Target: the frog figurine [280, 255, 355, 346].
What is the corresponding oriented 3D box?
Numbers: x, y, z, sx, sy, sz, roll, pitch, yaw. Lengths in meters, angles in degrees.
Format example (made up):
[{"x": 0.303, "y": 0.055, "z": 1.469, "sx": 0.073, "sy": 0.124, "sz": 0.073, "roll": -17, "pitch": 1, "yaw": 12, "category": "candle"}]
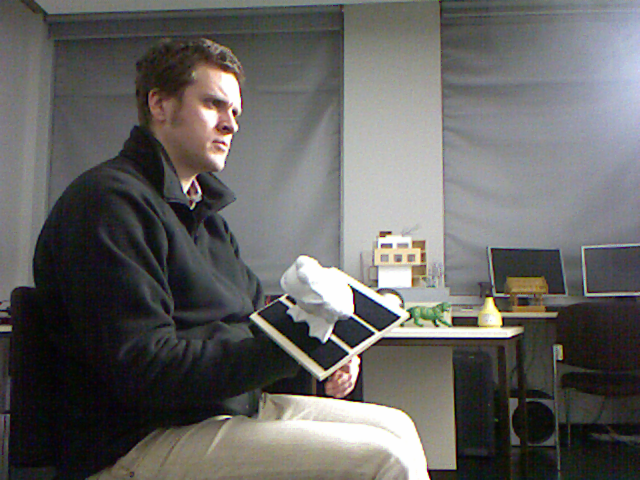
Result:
[{"x": -0.006, "y": 0.078, "z": 0.852, "sx": 0.123, "sy": 0.156, "sz": 0.140, "roll": -15, "pitch": 36, "yaw": -13, "category": "frog figurine"}]
